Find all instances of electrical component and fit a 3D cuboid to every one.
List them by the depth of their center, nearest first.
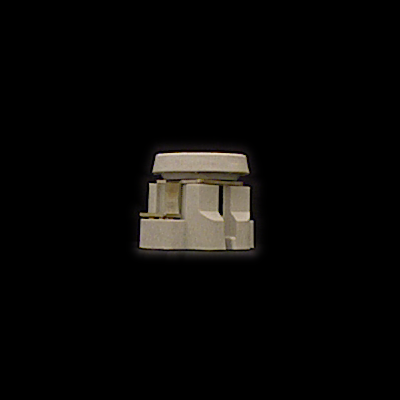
[{"bbox_3d":[0.000,0.000,0.648,0.057,0.057,0.079,2,1,45],"label":"electrical component"}]
